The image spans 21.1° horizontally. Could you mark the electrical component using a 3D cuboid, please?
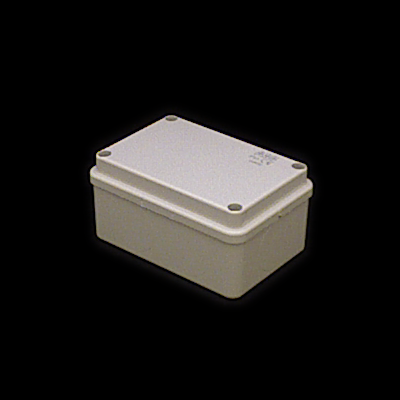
[{"bbox_3d":[0.000,0.000,0.636,0.112,0.058,0.078,23,37,32],"label":"electrical component"}]
